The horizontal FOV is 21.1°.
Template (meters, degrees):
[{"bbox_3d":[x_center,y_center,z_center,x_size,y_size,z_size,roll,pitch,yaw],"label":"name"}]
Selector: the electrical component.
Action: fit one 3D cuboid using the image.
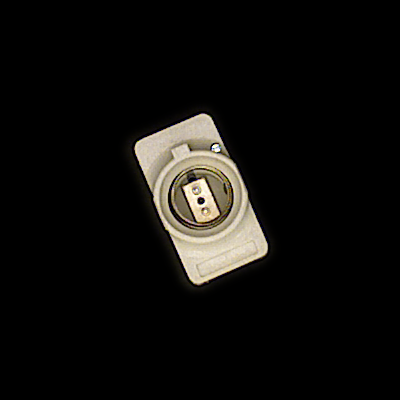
[{"bbox_3d":[0.000,0.000,0.637,0.050,0.089,0.055,-24,-5,-1],"label":"electrical component"}]
